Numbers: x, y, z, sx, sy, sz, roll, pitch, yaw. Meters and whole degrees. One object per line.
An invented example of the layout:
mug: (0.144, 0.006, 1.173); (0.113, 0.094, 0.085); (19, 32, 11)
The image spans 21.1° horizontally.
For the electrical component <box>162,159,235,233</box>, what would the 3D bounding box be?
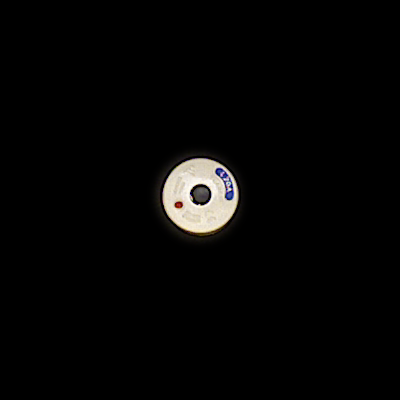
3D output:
electrical component: (0.000, 0.000, 0.617); (0.040, 0.040, 0.078); (0, -5, 1)
